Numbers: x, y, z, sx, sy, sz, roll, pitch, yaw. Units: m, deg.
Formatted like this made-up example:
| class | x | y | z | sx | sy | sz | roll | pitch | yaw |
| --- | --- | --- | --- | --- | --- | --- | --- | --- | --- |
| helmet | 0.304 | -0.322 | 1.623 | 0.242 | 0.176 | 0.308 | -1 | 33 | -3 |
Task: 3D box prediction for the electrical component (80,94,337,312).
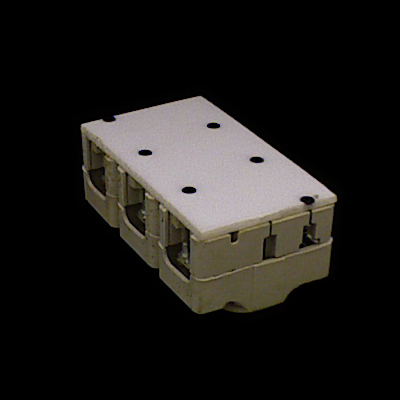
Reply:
| class | x | y | z | sx | sy | sz | roll | pitch | yaw |
| --- | --- | --- | --- | --- | --- | --- | --- | --- | --- |
| electrical component | 0.000 | 0.000 | 0.641 | 0.089 | 0.063 | 0.147 | -16 | 34 | -26 |
